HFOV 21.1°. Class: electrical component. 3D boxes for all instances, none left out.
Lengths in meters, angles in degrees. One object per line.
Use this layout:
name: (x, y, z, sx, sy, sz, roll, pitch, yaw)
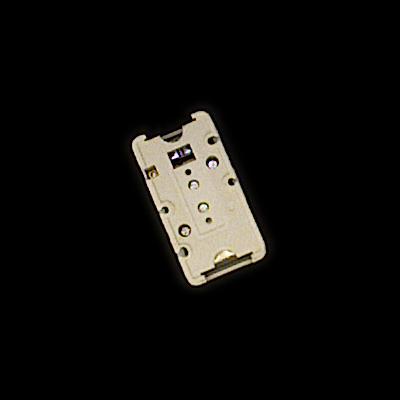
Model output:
electrical component: (0.000, 0.000, 0.637, 0.050, 0.090, 0.055, -23, -6, -1)
